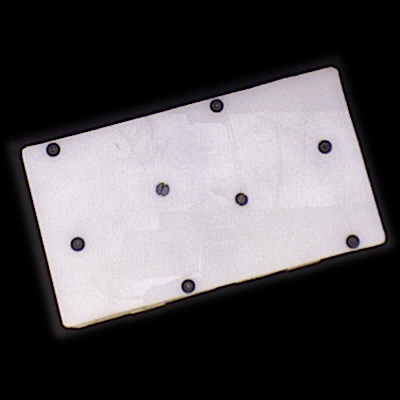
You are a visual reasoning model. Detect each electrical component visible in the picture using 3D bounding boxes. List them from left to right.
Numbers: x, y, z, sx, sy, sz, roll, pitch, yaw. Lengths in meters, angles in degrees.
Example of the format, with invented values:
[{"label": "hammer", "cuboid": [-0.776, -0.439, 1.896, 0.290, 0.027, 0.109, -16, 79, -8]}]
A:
[{"label": "electrical component", "cuboid": [0.000, 0.000, 0.626, 0.186, 0.106, 0.060, -15, -7, -1]}]
